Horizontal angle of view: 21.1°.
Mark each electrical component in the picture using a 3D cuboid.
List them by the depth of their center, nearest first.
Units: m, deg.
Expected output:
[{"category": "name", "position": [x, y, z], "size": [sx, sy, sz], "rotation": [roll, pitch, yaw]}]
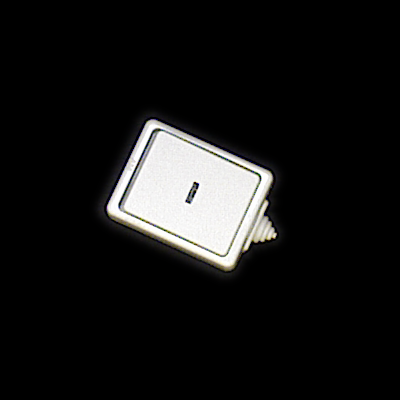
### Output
[{"category": "electrical component", "position": [0.000, 0.000, 0.626], "size": [0.096, 0.062, 0.061], "rotation": [24, -6, 3]}]
